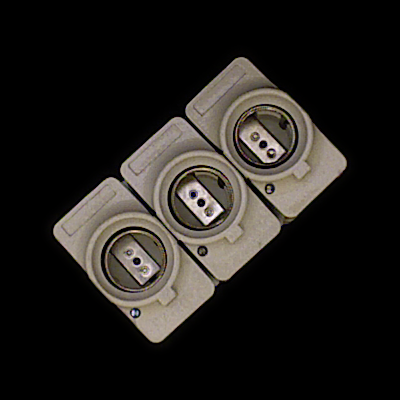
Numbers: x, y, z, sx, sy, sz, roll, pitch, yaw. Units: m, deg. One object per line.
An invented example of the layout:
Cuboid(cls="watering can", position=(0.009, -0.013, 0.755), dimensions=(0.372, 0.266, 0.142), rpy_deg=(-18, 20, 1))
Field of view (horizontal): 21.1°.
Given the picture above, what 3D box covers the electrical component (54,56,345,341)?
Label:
Cuboid(cls="electrical component", position=(0.000, 0.000, 0.632), dimensions=(0.150, 0.089, 0.061), rpy_deg=(-43, -4, -4))
